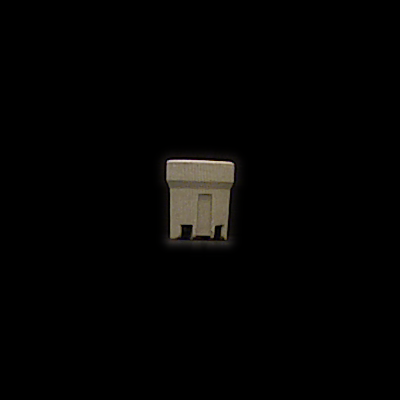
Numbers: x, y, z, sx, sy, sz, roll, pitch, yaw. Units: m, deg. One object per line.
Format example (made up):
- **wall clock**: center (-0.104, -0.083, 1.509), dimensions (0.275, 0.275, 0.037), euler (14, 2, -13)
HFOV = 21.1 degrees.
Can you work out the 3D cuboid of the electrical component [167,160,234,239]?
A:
- **electrical component**: center (0.000, 0.000, 0.647), dimensions (0.040, 0.046, 0.040), euler (1, 1, 0)
